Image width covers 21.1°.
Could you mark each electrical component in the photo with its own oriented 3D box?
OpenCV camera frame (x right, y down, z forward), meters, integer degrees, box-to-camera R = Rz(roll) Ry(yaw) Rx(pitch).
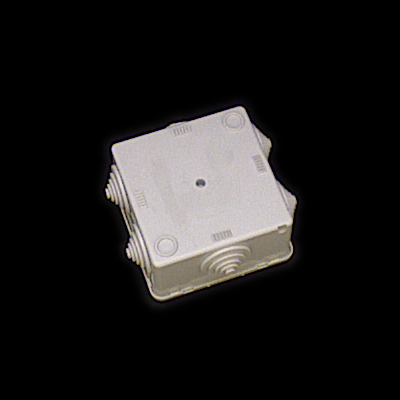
[{"bbox_3d":[0.000,0.000,0.631,0.100,0.099,0.048,-17,-26,-9],"label":"electrical component"}]
